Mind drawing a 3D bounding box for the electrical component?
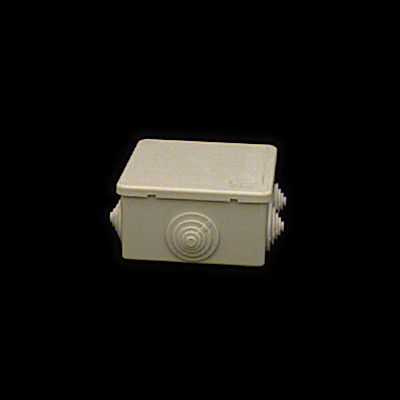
[{"bbox_3d":[0.000,0.000,0.648,0.099,0.049,0.099,3,22,5],"label":"electrical component"}]
